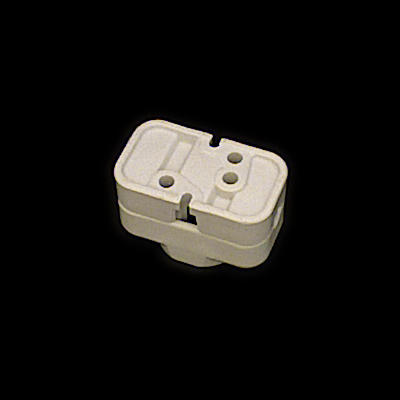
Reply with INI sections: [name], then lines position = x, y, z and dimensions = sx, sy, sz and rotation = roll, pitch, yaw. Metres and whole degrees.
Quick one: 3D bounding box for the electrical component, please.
[electrical component]
position = 0.000, 0.000, 0.638
dimensions = 0.095, 0.053, 0.059
rotation = 17, -35, 12
